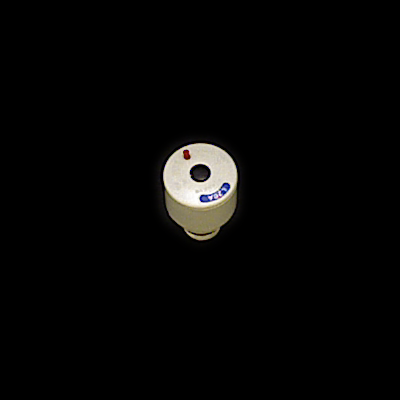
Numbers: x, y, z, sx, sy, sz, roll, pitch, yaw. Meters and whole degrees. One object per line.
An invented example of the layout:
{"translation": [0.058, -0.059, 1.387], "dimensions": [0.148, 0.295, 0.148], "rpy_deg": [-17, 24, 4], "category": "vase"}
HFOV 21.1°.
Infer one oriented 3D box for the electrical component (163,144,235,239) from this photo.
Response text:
{"translation": [0.000, 0.000, 0.619], "dimensions": [0.040, 0.040, 0.078], "rpy_deg": [0, -28, 1], "category": "electrical component"}
